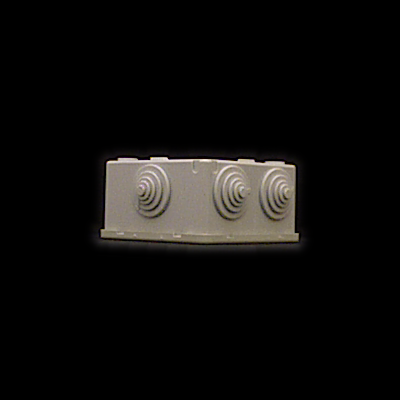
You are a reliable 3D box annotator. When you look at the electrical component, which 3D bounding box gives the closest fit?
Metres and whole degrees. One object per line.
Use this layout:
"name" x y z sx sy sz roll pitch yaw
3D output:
"electrical component" 0.000 0.000 0.648 0.099 0.048 0.100 1 0 42
